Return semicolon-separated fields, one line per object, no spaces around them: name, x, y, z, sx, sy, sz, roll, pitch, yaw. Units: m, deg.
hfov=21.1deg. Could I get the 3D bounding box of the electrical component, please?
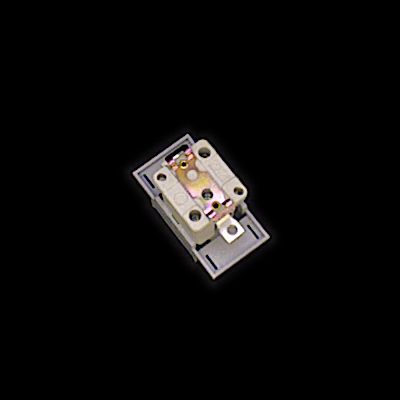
electrical component;0.000;0.000;0.625;0.042;0.081;0.063;-36;-13;-10
